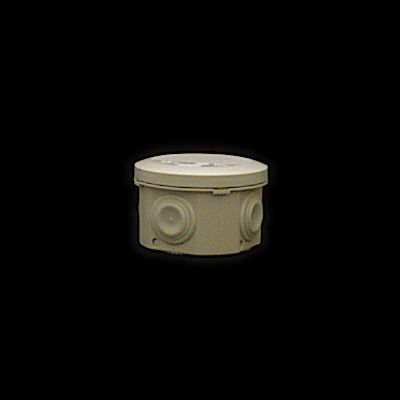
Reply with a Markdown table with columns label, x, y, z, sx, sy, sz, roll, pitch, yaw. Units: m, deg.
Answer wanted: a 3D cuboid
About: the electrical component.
| label | x | y | z | sx | sy | sz | roll | pitch | yaw |
| --- | --- | --- | --- | --- | --- | --- | --- | --- | --- |
| electrical component | 0.000 | 0.000 | 0.645 | 0.080 | 0.051 | 0.079 | 1 | 10 | 0 |
